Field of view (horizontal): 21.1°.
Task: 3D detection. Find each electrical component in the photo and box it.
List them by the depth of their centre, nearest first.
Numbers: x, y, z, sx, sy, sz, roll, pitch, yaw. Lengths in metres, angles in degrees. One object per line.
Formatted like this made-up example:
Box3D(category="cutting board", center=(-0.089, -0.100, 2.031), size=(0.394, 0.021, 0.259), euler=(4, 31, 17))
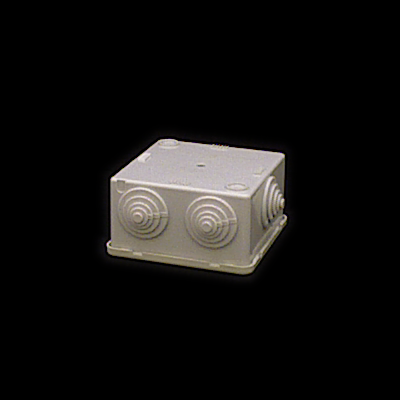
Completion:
Box3D(category="electrical component", center=(0.000, 0.000, 0.641), size=(0.099, 0.049, 0.099), euler=(8, 22, 16))
